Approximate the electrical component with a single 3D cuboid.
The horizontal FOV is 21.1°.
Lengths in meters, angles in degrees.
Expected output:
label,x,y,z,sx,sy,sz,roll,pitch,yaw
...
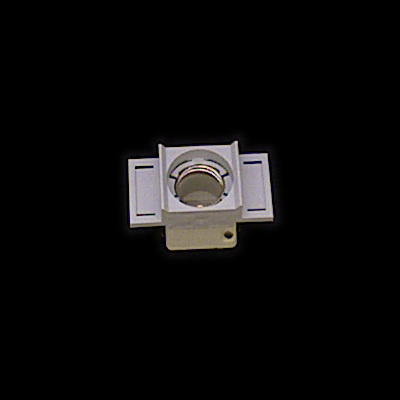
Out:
label,x,y,z,sx,sy,sz,roll,pitch,yaw
electrical component,0.000,0.000,0.624,0.081,0.042,0.063,-2,-26,-2
